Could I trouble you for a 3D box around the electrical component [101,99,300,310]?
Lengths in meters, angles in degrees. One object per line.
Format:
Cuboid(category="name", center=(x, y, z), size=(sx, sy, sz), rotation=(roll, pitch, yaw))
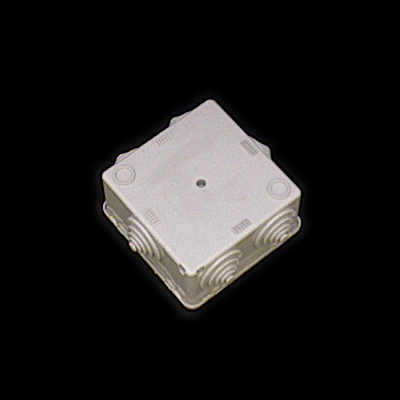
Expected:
Cuboid(category="electrical component", center=(0.000, 0.000, 0.631), size=(0.100, 0.099, 0.048), rotation=(-36, -21, -17))
